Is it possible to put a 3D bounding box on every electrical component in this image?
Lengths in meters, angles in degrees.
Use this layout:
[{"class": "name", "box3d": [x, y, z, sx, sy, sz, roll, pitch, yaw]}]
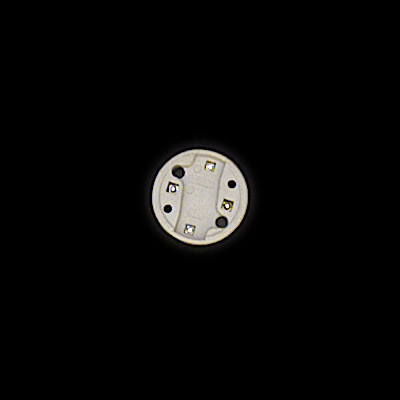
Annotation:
[{"class": "electrical component", "box3d": [0.000, 0.000, 0.636, 0.055, 0.055, 0.047, 0, -6, 0]}]
